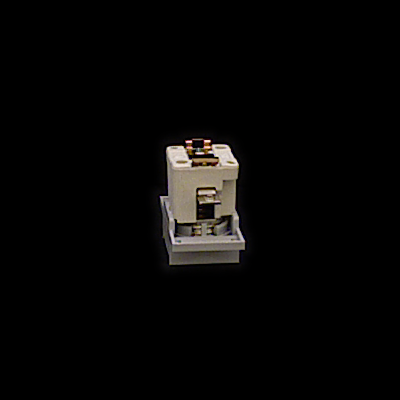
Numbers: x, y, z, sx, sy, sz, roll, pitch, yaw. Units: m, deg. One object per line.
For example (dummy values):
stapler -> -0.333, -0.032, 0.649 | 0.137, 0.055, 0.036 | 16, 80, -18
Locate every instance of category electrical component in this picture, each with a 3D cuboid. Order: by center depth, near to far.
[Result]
electrical component -> 0.000, 0.000, 0.639 | 0.042, 0.064, 0.079 | -2, 21, -8
